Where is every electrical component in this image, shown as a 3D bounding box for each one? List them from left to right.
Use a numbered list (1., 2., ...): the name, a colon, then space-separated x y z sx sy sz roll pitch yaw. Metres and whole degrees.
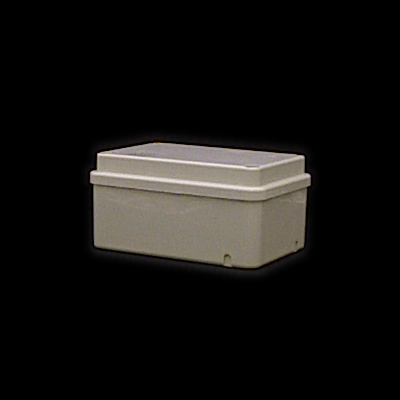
1. electrical component: 0.000 0.000 0.642 0.112 0.057 0.078 7 12 27
